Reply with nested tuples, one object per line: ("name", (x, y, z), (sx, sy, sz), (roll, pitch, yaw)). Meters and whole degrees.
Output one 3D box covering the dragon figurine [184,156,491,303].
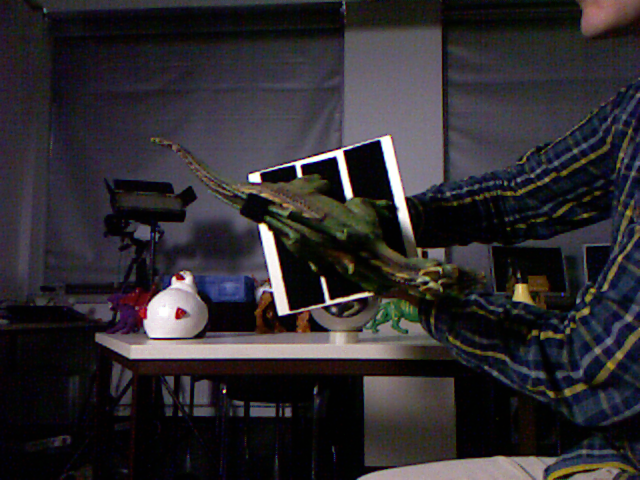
("dragon figurine", (-0.019, -0.027, 0.575), (0.413, 0.123, 0.243), (22, 1, 9))
